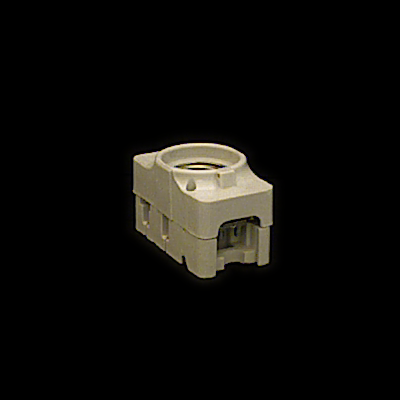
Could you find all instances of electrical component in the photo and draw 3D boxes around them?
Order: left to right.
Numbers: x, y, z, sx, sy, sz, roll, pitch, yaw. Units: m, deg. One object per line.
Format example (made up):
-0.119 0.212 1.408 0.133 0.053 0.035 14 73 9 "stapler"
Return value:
0.000 0.000 0.646 0.050 0.056 0.088 -12 25 -28 "electrical component"
